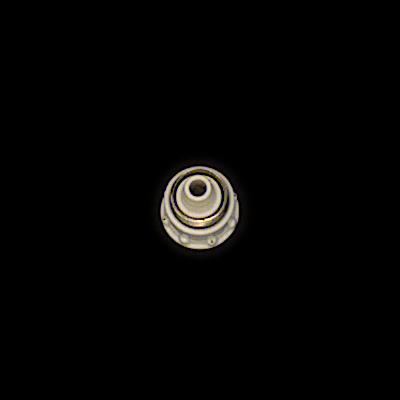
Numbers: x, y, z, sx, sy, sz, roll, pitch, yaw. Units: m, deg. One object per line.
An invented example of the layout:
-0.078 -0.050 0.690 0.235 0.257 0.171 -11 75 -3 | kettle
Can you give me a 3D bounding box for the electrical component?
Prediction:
0.000 0.000 0.633 0.048 0.048 0.061 0 -15 1 | electrical component
